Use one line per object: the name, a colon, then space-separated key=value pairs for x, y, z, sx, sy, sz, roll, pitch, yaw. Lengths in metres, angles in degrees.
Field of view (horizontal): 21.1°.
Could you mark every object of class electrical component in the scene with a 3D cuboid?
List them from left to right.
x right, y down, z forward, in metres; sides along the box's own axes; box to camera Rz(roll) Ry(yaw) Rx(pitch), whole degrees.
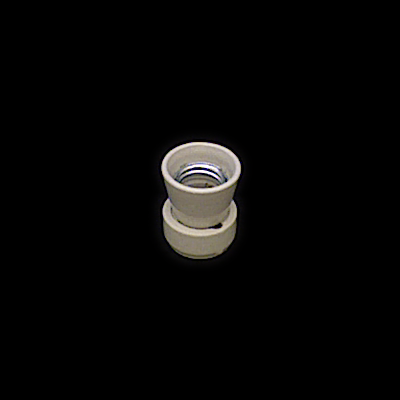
electrical component: x=0.000 y=0.000 z=0.633 sx=0.045 sy=0.056 sz=0.044 roll=1 pitch=42 yaw=-1
